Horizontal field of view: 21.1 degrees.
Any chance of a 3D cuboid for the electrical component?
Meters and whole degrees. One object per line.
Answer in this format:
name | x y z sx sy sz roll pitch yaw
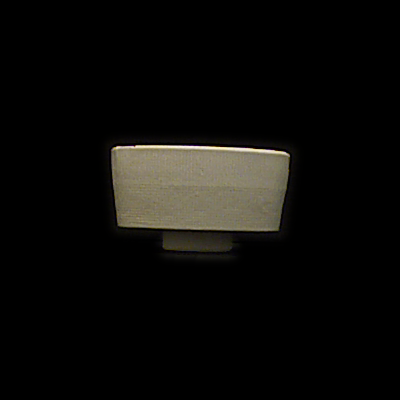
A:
electrical component | 0.000 0.000 0.653 0.108 0.060 0.108 2 0 1
